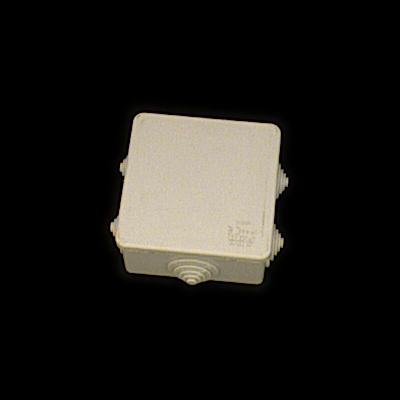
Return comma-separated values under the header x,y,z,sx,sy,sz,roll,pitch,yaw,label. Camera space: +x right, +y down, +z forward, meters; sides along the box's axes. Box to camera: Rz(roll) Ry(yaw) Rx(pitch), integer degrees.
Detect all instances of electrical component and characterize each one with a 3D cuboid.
x,y,z,sx,sy,sz,roll,pitch,yaw,label
0.000,0.000,0.639,0.100,0.100,0.048,5,-26,2,electrical component
